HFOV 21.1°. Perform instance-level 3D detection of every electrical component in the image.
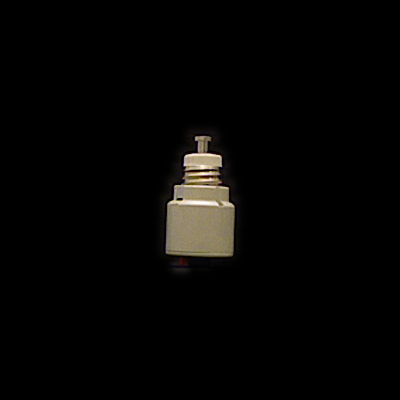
[{"bbox_3d":[0.000,0.000,0.651,0.040,0.078,0.040,2,2,0],"label":"electrical component"}]
